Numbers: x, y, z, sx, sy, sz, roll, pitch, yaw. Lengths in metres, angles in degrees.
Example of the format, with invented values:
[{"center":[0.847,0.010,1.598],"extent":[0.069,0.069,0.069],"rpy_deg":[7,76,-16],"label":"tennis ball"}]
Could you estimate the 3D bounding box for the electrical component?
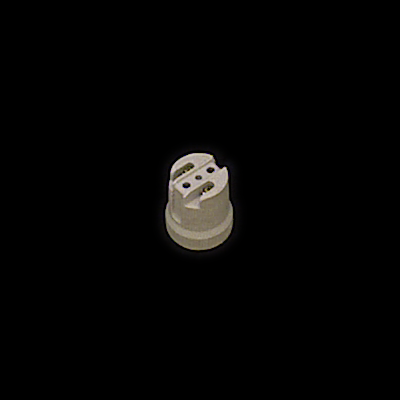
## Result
[{"center":[0.000,0.000,0.634],"extent":[0.040,0.040,0.046],"rpy_deg":[0,-38,0],"label":"electrical component"}]
